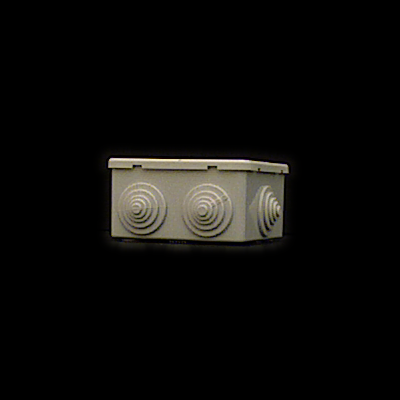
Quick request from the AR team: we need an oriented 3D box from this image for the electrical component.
[{"bbox_3d":[0.000,0.000,0.658,0.099,0.048,0.100,2,1,20],"label":"electrical component"}]
